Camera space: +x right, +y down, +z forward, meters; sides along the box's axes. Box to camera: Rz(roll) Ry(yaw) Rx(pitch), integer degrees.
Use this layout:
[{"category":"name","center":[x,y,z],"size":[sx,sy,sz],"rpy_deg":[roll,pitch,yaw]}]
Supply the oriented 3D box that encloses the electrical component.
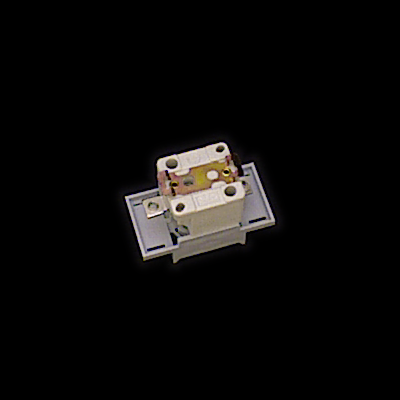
[{"category":"electrical component","center":[0.000,0.000,0.626],"size":[0.081,0.042,0.063],"rpy_deg":[-16,-26,-8]}]
